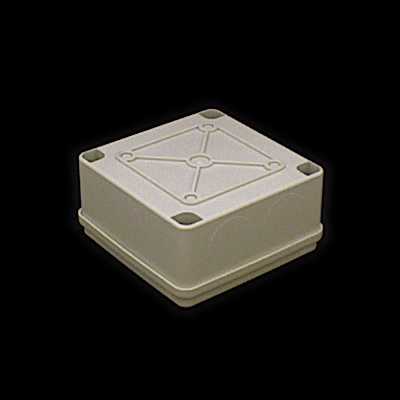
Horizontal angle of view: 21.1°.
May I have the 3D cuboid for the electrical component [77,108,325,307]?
[{"bbox_3d":[0.000,0.000,0.634,0.109,0.057,0.107,-22,38,-33],"label":"electrical component"}]
